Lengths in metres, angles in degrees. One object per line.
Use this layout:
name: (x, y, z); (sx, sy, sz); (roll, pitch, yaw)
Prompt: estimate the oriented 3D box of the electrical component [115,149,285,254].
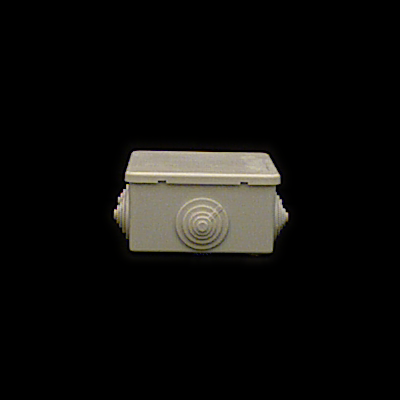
electrical component: (0.000, 0.000, 0.652); (0.100, 0.049, 0.099); (1, 11, -2)
